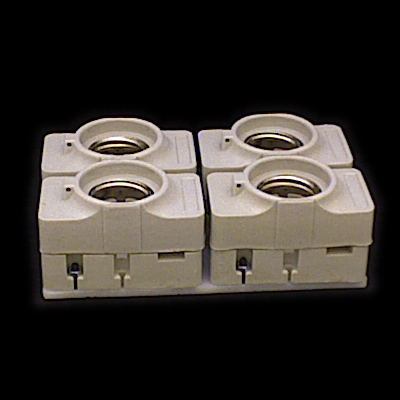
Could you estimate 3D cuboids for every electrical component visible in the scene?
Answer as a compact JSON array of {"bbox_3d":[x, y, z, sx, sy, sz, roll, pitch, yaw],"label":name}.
[{"bbox_3d":[0.000,0.000,0.633,0.186,0.061,0.104,-2,31,-4],"label":"electrical component"}]
